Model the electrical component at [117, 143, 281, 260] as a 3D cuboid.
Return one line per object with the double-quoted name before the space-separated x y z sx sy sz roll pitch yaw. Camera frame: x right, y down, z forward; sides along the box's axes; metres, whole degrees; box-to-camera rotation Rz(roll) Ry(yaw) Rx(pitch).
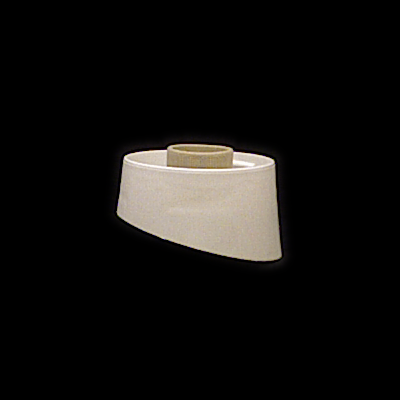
"electrical component" 0.000 0.000 0.643 0.099 0.064 0.098 2 10 0
